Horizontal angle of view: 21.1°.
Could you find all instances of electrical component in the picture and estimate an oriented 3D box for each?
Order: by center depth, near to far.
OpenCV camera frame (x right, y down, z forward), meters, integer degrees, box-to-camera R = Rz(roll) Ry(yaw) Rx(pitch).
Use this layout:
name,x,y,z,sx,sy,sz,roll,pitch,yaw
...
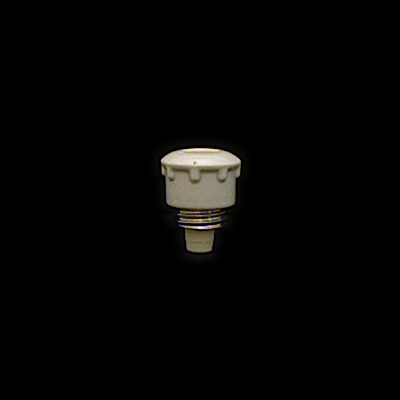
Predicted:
name,x,y,z,sx,sy,sz,roll,pitch,yaw
electrical component,0.000,0.000,0.649,0.048,0.062,0.048,1,11,0
